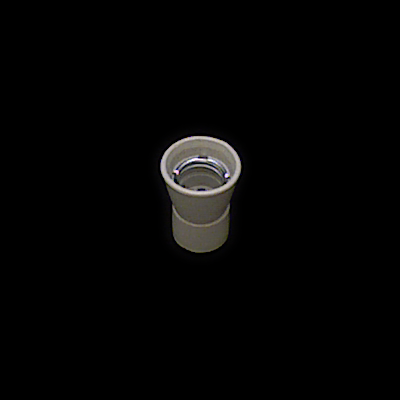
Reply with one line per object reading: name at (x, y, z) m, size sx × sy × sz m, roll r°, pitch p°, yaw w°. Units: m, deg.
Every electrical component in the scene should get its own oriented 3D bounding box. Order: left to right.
electrical component at (0.000, 0.000, 0.628) m, size 0.044 × 0.044 × 0.065 m, roll 0°, pitch -39°, yaw 0°
